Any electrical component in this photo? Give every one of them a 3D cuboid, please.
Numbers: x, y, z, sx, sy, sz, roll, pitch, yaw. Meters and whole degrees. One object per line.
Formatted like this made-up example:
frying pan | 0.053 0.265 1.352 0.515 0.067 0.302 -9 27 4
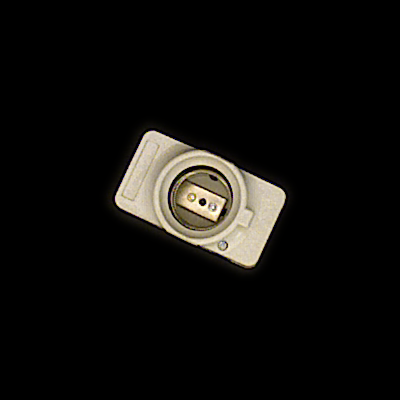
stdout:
electrical component | 0.000 0.000 0.637 0.089 0.050 0.055 24 -4 3
